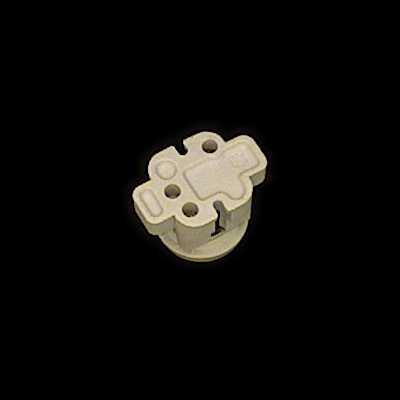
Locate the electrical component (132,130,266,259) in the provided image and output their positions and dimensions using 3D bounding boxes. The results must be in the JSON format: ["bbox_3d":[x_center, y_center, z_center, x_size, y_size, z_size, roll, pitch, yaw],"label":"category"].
[{"bbox_3d":[0.000,0.000,0.636,0.079,0.057,0.057,-28,-24,-15],"label":"electrical component"}]
